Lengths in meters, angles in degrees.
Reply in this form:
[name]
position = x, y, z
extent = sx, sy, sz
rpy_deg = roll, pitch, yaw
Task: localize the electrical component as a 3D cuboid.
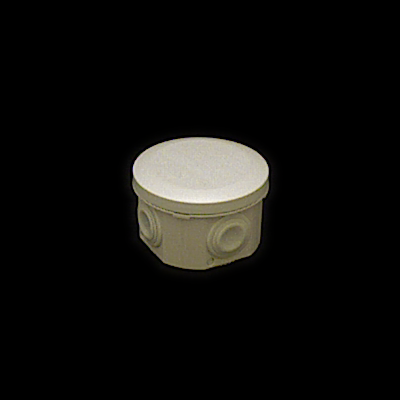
[electrical component]
position = 0.000, 0.000, 0.638
extent = 0.080, 0.051, 0.079
rpy_deg = 1, 31, 0
